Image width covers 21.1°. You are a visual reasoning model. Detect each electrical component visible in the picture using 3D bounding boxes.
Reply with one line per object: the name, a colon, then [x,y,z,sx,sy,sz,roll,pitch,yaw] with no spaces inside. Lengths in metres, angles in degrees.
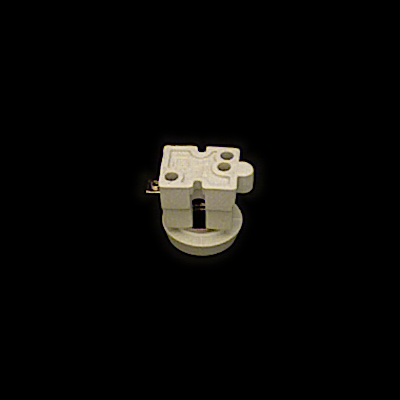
electrical component: [0.000,0.000,0.641,0.066,0.056,0.048,3,44,4]
